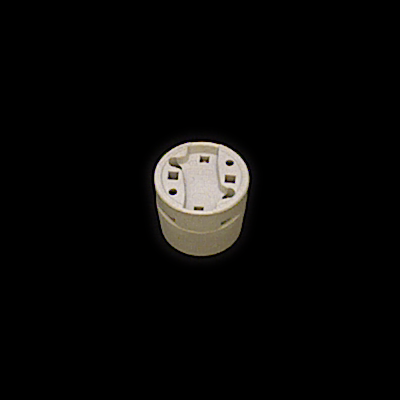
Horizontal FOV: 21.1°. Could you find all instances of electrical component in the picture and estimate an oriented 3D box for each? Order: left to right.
[{"bbox_3d":[0.000,0.000,0.635,0.055,0.055,0.047,0,-38,-1],"label":"electrical component"}]
